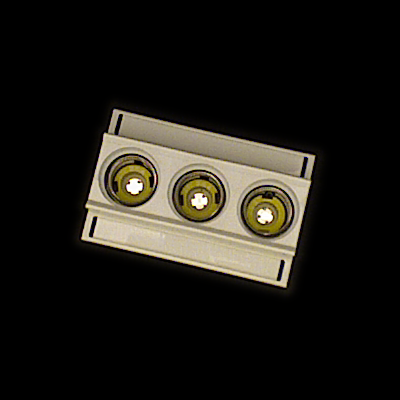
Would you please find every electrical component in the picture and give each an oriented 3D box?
[{"bbox_3d":[0.000,0.000,0.638,0.121,0.079,0.063,13,-7,2],"label":"electrical component"}]
